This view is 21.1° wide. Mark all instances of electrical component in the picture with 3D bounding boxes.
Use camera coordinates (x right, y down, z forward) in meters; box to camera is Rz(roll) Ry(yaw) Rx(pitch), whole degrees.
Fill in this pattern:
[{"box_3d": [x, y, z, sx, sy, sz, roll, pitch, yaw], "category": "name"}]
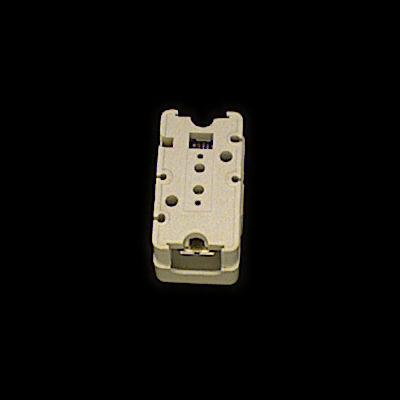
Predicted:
[{"box_3d": [0.000, 0.000, 0.636, 0.050, 0.089, 0.055, 2, -27, 2], "category": "electrical component"}]
